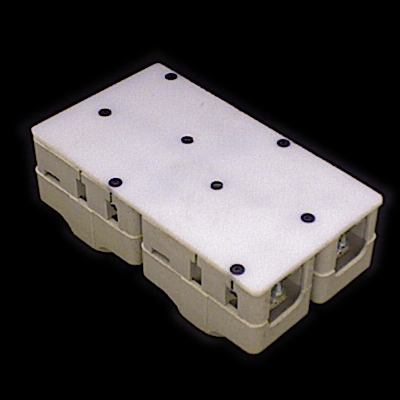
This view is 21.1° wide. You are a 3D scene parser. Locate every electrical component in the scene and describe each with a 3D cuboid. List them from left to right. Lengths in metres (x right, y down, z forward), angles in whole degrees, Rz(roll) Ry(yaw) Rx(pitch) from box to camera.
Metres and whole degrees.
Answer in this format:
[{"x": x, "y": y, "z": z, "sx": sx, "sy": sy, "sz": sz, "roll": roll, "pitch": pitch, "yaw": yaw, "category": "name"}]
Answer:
[{"x": 0.000, "y": 0.000, "z": 0.629, "sx": 0.105, "sy": 0.061, "sz": 0.185, "roll": -33, "pitch": 52, "yaw": -32, "category": "electrical component"}]
